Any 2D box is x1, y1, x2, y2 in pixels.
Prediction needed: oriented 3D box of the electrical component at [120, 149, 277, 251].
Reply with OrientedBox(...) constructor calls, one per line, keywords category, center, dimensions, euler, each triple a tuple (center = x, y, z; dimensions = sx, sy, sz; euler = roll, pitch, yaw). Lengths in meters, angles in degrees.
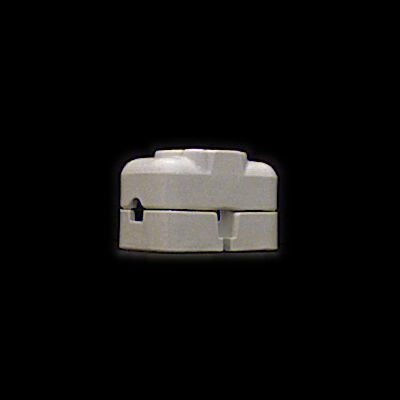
OrientedBox(category="electrical component", center=(0.000, 0.000, 0.655), dimensions=(0.096, 0.059, 0.053), euler=(0, 1, -39))
